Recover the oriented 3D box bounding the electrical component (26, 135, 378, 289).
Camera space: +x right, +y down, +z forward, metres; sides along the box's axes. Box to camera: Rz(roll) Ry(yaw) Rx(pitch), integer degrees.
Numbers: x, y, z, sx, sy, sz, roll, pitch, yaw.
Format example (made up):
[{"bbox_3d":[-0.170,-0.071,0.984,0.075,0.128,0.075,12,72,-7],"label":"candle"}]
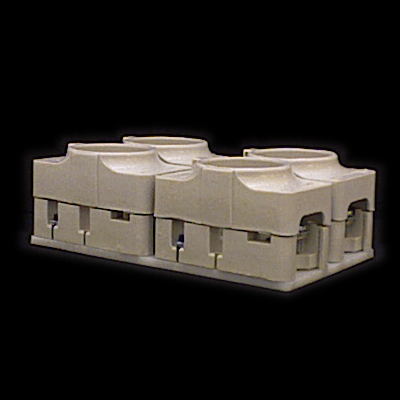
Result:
[{"bbox_3d":[0.000,0.000,0.643,0.185,0.060,0.105,8,12,34],"label":"electrical component"}]
